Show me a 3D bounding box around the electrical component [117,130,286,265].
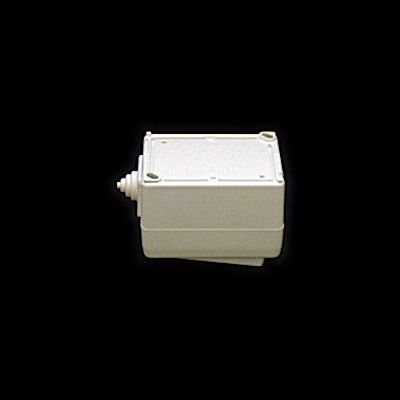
[{"bbox_3d":[0.000,0.000,0.632,0.096,0.061,0.061,0,32,-2],"label":"electrical component"}]
